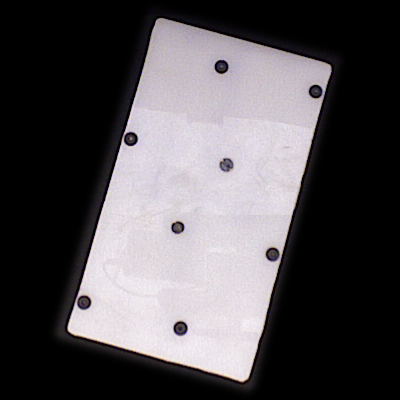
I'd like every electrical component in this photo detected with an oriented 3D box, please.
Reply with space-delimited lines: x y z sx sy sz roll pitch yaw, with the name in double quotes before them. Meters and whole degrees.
"electrical component" 0.000 0.000 0.626 0.105 0.187 0.060 15 -7 2
